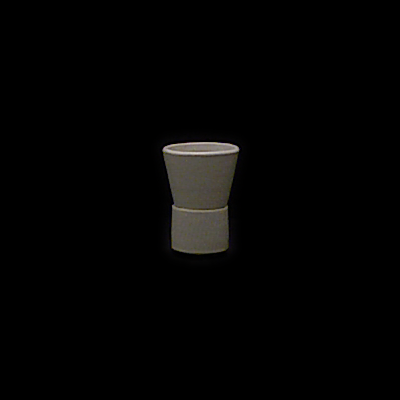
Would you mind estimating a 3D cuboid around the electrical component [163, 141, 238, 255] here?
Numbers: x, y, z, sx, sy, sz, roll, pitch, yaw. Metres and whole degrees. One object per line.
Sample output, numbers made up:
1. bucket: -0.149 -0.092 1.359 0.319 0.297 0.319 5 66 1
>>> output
1. electrical component: 0.000 0.000 0.641 0.044 0.066 0.044 1 12 0
